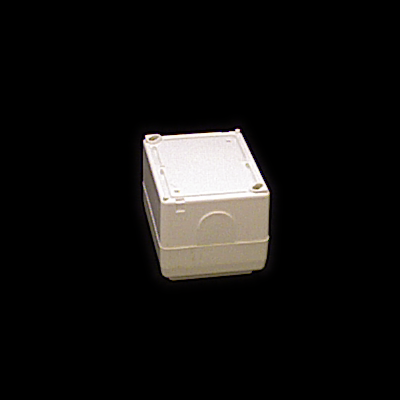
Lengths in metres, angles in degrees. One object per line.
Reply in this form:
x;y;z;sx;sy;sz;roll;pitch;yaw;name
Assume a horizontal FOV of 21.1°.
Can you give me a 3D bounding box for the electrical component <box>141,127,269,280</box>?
0.000;0.000;0.636;0.062;0.061;0.095;-5;31;-9;electrical component
